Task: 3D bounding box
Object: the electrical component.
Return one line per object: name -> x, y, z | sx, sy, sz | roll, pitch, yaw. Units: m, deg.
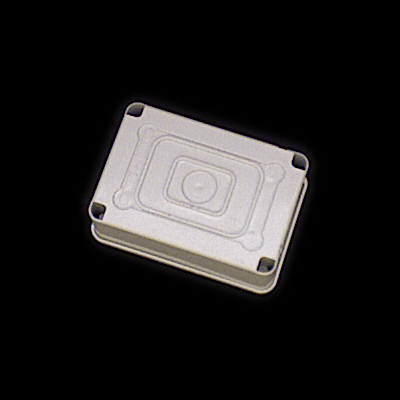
electrical component -> 0.000, 0.000, 0.628 | 0.113, 0.078, 0.057 | 18, -16, 5
